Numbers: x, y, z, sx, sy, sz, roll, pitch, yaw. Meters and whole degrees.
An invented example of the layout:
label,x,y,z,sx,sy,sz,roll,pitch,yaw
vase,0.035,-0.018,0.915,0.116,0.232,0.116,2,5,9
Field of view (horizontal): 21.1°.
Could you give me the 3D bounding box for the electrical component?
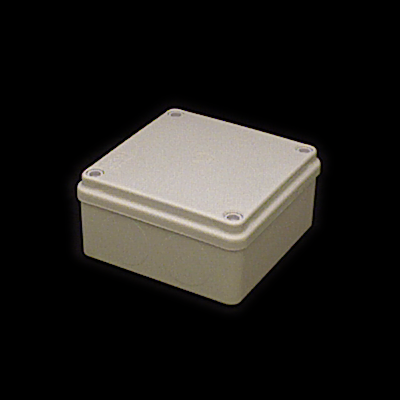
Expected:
label,x,y,z,sx,sy,sz,roll,pitch,yaw
electrical component,0.000,0.000,0.636,0.108,0.057,0.108,18,35,24
